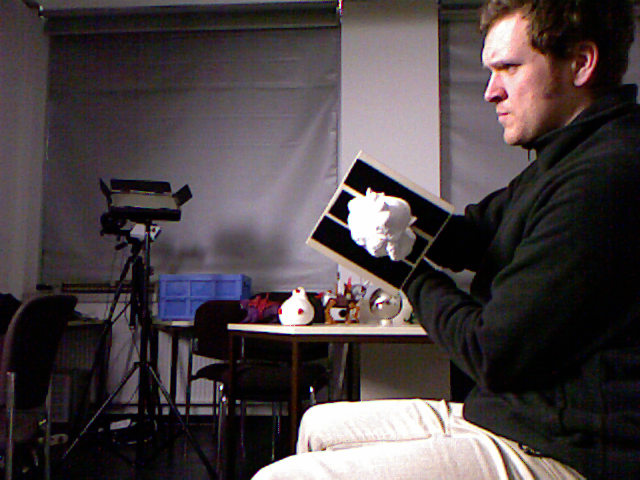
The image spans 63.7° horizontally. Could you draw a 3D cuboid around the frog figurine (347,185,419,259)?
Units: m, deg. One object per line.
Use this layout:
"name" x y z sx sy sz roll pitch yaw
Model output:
"frog figurine" 0.108 -0.024 0.885 0.122 0.137 0.162 -36 7 14
